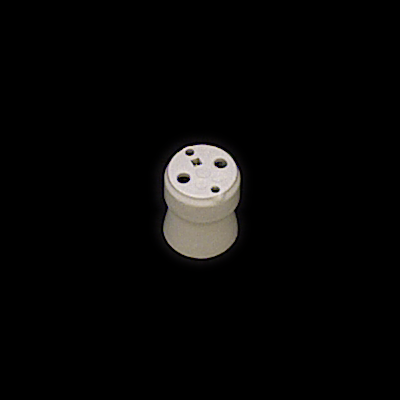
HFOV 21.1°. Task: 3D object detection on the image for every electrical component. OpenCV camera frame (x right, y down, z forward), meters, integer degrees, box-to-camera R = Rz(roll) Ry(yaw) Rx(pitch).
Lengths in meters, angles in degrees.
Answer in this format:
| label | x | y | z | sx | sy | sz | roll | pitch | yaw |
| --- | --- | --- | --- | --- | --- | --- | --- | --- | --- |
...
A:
| label | x | y | z | sx | sy | sz | roll | pitch | yaw |
| --- | --- | --- | --- | --- | --- | --- | --- | --- | --- |
| electrical component | 0.000 | 0.000 | 0.631 | 0.045 | 0.044 | 0.055 | 0 | -37 | -1 |
